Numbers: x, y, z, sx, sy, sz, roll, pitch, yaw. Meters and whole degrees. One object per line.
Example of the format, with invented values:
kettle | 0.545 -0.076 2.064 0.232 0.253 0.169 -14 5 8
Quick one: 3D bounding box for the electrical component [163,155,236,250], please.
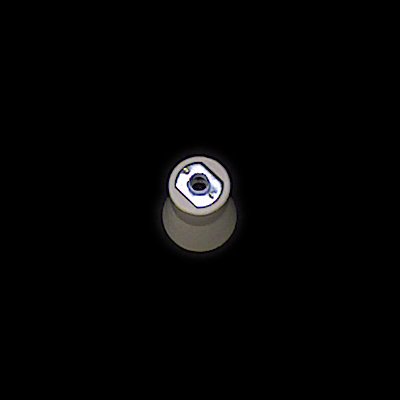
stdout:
electrical component | 0.000 0.000 0.625 0.044 0.044 0.065 0 -18 -1
